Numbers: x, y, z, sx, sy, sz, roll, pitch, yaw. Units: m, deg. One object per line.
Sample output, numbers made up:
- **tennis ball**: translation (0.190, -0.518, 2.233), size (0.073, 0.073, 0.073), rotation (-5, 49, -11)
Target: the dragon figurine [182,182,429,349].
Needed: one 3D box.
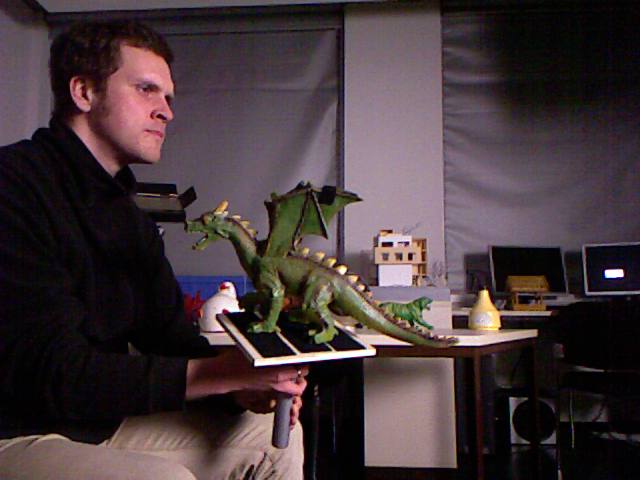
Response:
- **dragon figurine**: translation (-0.019, 0.031, 0.827), size (0.411, 0.241, 0.123), rotation (7, 12, 5)
